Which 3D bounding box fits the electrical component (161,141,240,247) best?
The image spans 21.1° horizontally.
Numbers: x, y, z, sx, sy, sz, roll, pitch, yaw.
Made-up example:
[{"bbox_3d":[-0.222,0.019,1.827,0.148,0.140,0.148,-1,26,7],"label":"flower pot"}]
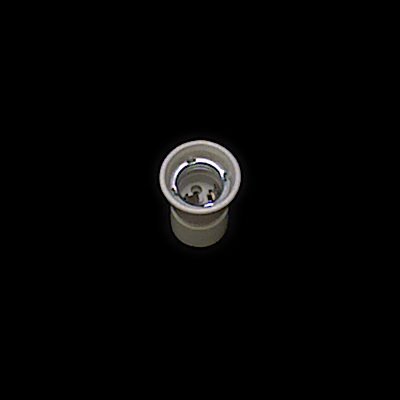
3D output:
[{"bbox_3d":[0.000,0.000,0.624,0.044,0.044,0.065,0,-26,-1],"label":"electrical component"}]
